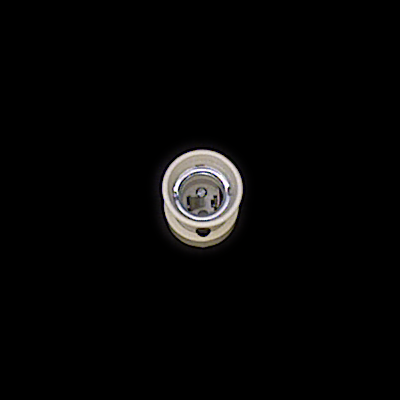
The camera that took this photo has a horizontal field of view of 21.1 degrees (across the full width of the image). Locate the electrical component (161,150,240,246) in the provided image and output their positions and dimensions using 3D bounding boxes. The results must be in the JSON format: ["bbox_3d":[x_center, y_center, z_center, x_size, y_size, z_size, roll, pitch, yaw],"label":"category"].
[{"bbox_3d":[0.000,0.000,0.628,0.045,0.045,0.055,0,-16,0],"label":"electrical component"}]
